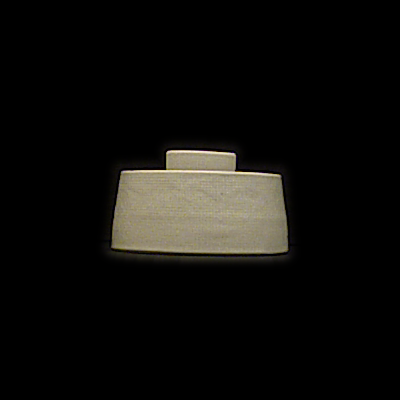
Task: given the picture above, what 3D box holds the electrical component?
[{"bbox_3d":[0.000,0.000,0.656,0.108,0.060,0.108,1,1,1],"label":"electrical component"}]
